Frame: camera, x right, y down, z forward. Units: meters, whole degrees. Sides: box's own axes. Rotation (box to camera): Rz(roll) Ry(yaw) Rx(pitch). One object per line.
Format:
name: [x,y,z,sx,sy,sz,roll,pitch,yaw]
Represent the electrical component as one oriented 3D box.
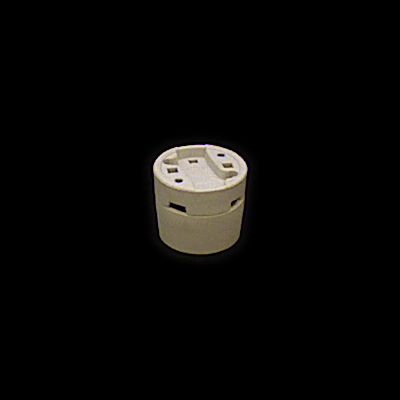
electrical component: [0.000,0.000,0.638,0.055,0.047,0.055,1,31,0]
